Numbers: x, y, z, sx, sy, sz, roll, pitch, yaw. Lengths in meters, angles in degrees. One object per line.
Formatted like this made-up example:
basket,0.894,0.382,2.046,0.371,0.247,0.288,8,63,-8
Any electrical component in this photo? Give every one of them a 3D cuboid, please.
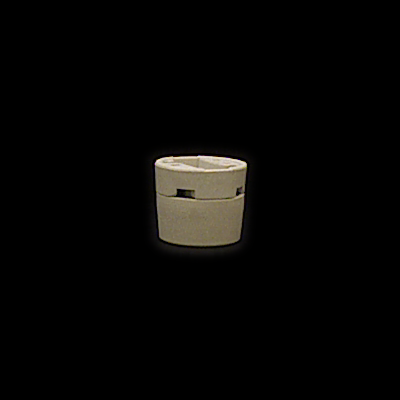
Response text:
electrical component,0.000,0.000,0.645,0.055,0.047,0.055,1,11,0
